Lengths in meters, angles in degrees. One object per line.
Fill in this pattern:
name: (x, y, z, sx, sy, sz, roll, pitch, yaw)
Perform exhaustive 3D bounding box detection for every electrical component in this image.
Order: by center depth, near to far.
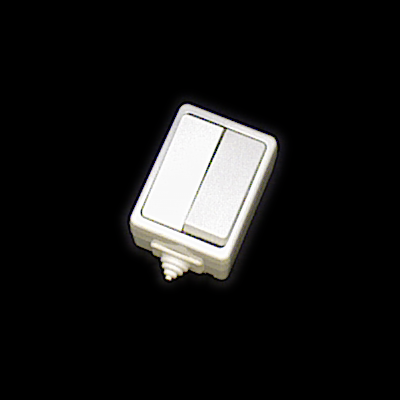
electrical component: (0.000, 0.000, 0.625, 0.062, 0.097, 0.060, 22, -16, 6)
